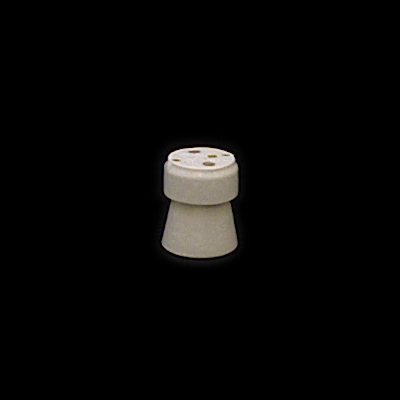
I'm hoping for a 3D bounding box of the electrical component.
[{"bbox_3d":[0.000,0.000,0.638,0.045,0.056,0.044,1,22,0],"label":"electrical component"}]
